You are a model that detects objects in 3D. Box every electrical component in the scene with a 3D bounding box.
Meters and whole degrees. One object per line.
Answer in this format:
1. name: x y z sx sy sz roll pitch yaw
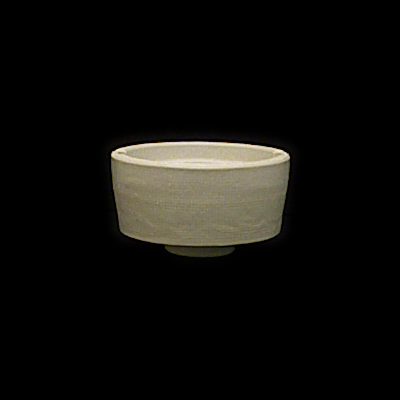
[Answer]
1. electrical component: 0.000 0.000 0.654 0.108 0.061 0.107 1 11 0
